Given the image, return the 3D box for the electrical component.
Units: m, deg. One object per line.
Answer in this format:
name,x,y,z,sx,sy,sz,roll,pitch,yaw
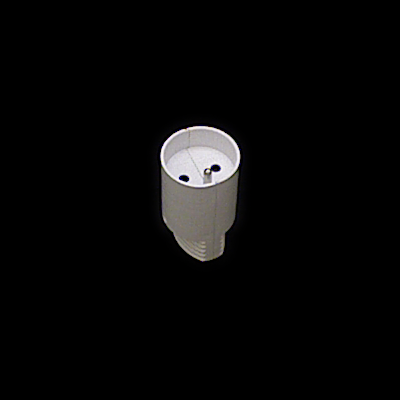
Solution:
electrical component,0.000,0.000,0.619,0.043,0.043,0.081,0,-37,0
